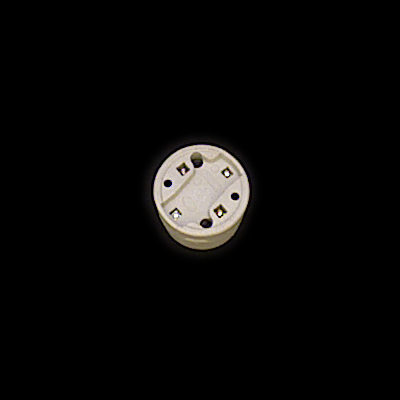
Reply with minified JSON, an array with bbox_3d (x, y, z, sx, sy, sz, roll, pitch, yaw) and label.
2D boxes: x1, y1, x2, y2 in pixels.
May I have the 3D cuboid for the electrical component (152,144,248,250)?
[{"bbox_3d":[0.000,0.000,0.635,0.055,0.056,0.047,0,-17,0],"label":"electrical component"}]
